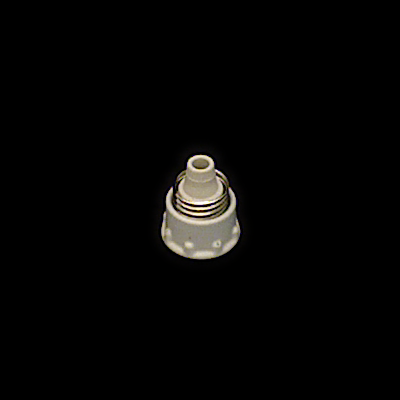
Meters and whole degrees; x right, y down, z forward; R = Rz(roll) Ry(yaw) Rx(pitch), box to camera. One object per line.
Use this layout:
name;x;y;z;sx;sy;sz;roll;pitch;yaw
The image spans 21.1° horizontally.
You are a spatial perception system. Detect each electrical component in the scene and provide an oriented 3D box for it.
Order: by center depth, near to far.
electrical component;0.000;0.000;0.636;0.048;0.062;0.047;0;44;0
